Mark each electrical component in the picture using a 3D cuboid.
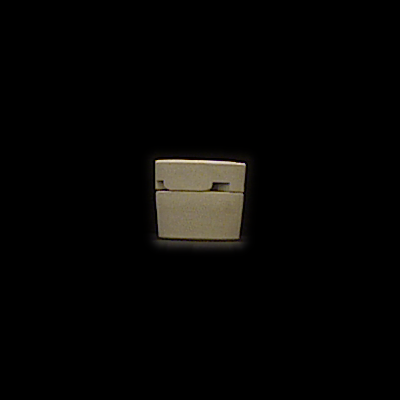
[{"bbox_3d":[0.000,0.000,0.651,0.055,0.047,0.055,1,1,0],"label":"electrical component"}]
